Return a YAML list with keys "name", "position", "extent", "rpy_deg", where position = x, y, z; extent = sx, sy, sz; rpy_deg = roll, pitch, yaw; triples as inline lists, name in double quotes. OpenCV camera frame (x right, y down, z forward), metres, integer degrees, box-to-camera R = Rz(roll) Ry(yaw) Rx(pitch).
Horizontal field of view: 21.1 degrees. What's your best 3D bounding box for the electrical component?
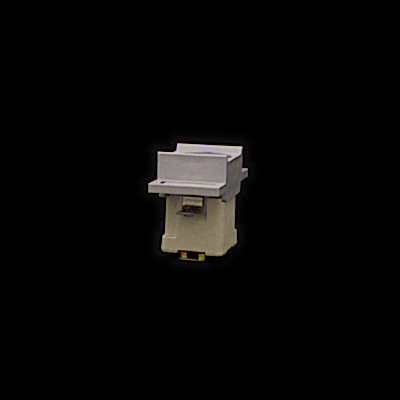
- name: "electrical component"
  position: [0.000, 0.000, 0.646]
  extent: [0.042, 0.064, 0.080]
  rpy_deg: [3, 11, 14]
